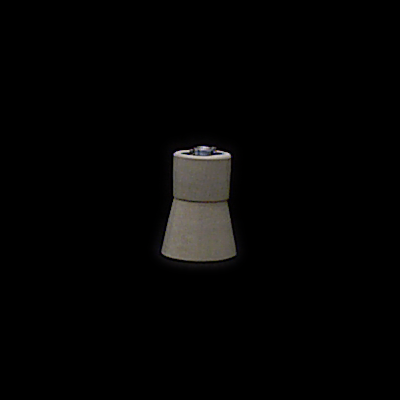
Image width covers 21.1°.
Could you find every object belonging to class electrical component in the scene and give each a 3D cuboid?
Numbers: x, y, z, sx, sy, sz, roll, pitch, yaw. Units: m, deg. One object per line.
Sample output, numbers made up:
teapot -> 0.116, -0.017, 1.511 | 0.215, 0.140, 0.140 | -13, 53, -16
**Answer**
electrical component -> 0.000, 0.000, 0.642 | 0.044, 0.066, 0.044 | 2, 11, 0
